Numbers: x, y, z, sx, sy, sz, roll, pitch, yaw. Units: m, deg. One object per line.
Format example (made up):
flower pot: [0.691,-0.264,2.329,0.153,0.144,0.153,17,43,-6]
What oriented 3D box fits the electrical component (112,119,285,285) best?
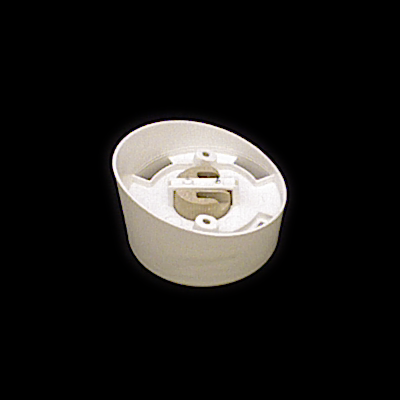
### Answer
electrical component: [0.000,0.000,0.628,0.099,0.064,0.098,0,42,0]
